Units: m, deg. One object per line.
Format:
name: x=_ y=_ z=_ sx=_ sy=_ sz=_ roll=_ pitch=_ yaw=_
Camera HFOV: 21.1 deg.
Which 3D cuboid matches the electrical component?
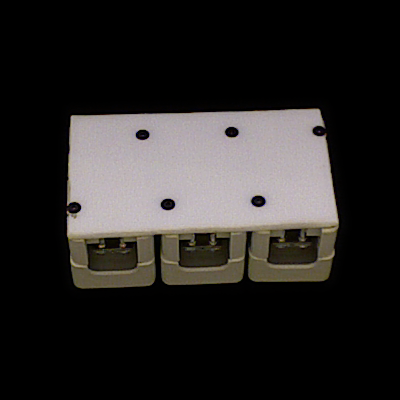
electrical component: x=0.000 y=0.000 z=0.635 sx=0.150 sy=0.088 sz=0.063 roll=-2 pitch=-37 yaw=-2
